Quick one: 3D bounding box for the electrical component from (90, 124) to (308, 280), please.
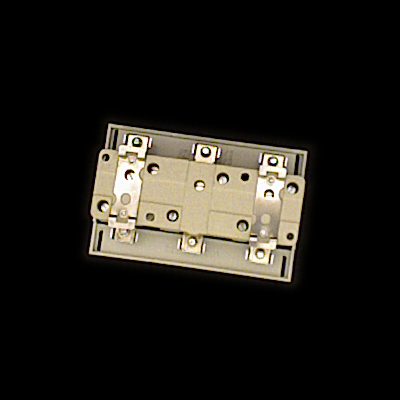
[{"bbox_3d":[0.000,0.000,0.634,0.121,0.079,0.063,8,-5,1],"label":"electrical component"}]
